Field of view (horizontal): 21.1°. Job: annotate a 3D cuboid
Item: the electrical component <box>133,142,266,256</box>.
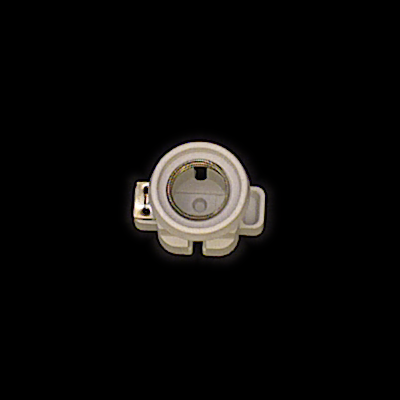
[{"bbox_3d":[0.000,0.000,0.628,0.078,0.058,0.056,3,-17,1],"label":"electrical component"}]
